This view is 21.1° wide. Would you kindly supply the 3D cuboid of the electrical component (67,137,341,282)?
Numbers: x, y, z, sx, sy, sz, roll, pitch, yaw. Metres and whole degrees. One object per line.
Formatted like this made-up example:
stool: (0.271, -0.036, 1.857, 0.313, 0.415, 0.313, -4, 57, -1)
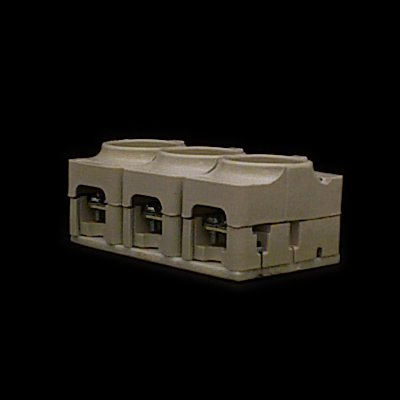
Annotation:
electrical component: (0.000, 0.000, 0.652, 0.149, 0.062, 0.089, 11, 14, 44)
